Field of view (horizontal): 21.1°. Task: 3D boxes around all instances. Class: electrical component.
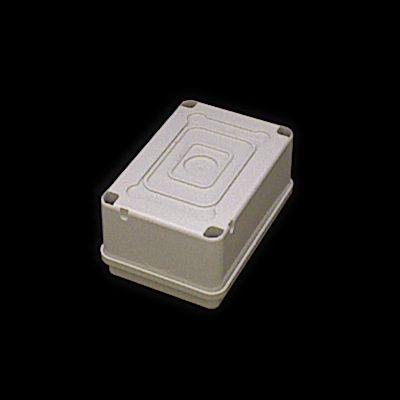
[{"bbox_3d":[0.000,0.000,0.632,0.078,0.057,0.112,18,44,19],"label":"electrical component"}]
